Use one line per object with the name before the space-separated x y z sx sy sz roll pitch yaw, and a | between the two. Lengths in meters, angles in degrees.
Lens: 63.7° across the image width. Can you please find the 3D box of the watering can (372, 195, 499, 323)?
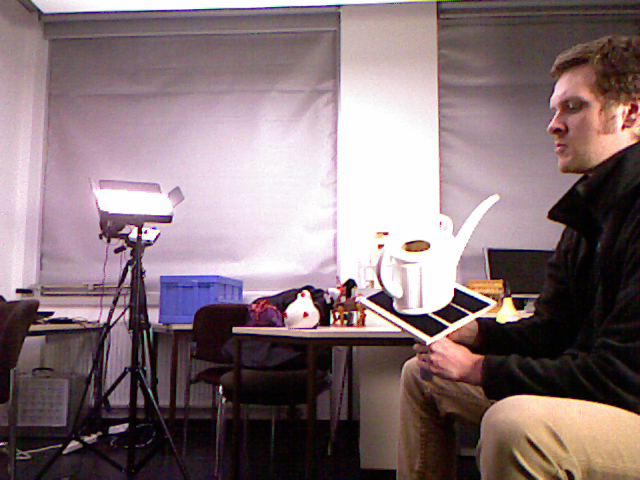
watering can | 0.251 0.039 1.083 0.351 0.220 0.105 -21 33 -27
